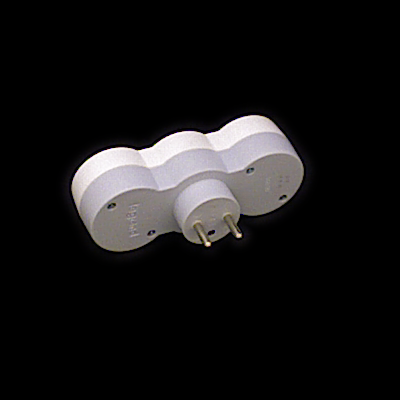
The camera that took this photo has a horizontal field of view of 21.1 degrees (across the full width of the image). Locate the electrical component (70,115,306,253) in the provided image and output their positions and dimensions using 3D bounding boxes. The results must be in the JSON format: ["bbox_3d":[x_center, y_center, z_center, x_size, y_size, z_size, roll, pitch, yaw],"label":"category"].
[{"bbox_3d":[0.000,0.000,0.635,0.138,0.052,0.073,-15,46,-18],"label":"electrical component"}]
